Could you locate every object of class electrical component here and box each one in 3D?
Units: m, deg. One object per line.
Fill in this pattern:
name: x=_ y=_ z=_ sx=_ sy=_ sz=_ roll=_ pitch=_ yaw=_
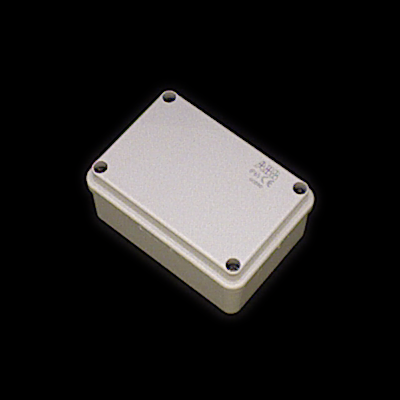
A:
electrical component: x=0.000 y=0.000 z=0.628 sx=0.113 sy=0.078 sz=0.057 roll=36 pitch=-22 yaw=16
